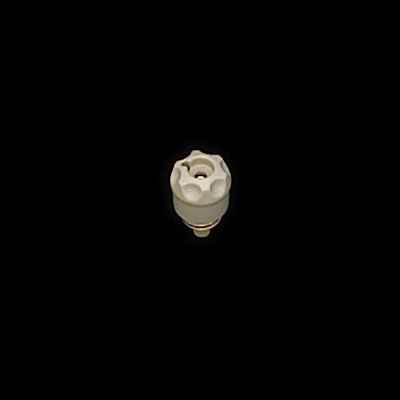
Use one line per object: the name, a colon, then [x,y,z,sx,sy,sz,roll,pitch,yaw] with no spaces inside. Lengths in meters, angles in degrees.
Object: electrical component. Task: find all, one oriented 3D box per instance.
electrical component: [0.000,0.000,0.636,0.035,0.035,0.062,0,-37,0]
